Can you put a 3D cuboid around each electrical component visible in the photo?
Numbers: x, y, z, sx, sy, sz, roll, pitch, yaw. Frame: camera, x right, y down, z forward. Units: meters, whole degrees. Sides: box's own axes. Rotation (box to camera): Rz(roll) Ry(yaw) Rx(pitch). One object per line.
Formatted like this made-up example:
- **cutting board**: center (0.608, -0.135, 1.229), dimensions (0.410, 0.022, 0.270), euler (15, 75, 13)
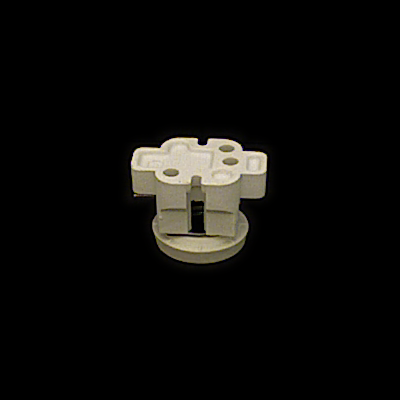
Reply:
- **electrical component**: center (0.000, 0.000, 0.641), dimensions (0.078, 0.057, 0.057), euler (1, 33, 2)
